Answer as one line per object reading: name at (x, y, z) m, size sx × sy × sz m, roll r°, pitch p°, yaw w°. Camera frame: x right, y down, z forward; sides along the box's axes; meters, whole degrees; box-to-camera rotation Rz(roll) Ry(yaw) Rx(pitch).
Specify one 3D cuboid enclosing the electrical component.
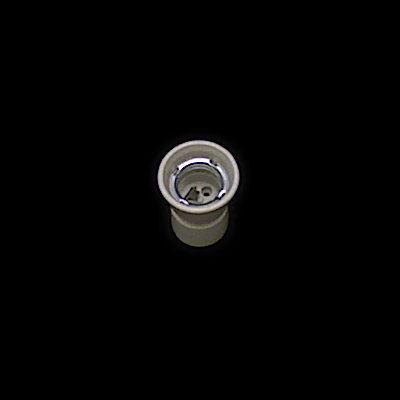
electrical component at (0.000, 0.000, 0.624) m, size 0.044 × 0.044 × 0.065 m, roll 0°, pitch -26°, yaw 0°
